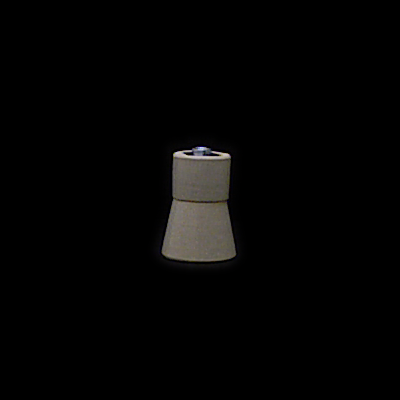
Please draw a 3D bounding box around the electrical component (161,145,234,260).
[{"bbox_3d":[0.000,0.000,0.644,0.044,0.066,0.044,2,11,0],"label":"electrical component"}]
